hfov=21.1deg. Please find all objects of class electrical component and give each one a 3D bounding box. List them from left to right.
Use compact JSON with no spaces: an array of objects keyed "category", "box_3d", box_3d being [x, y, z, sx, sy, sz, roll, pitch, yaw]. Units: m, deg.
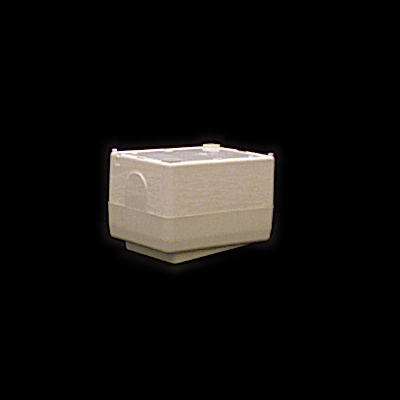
[{"category":"electrical component","box_3d":[0.000,0.000,0.643,0.096,0.061,0.061,-6,13,-38]}]
